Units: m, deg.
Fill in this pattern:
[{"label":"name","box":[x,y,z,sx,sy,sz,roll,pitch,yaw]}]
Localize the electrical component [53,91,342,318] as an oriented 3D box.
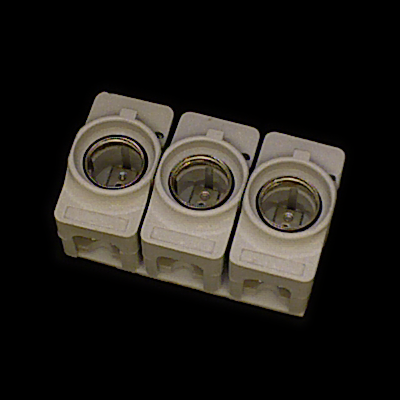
[{"label":"electrical component","box":[0.000,0.000,0.632,0.150,0.089,0.062,14,-27,6]}]
